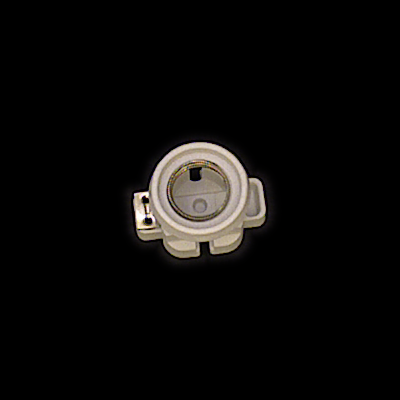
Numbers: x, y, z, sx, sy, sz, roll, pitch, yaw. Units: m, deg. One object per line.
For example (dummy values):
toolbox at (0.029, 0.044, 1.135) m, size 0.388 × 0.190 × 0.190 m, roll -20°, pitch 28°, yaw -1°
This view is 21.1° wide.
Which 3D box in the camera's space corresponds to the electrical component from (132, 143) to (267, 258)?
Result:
electrical component at (0.000, 0.000, 0.628) m, size 0.078 × 0.058 × 0.056 m, roll -7°, pitch -17°, yaw -2°
